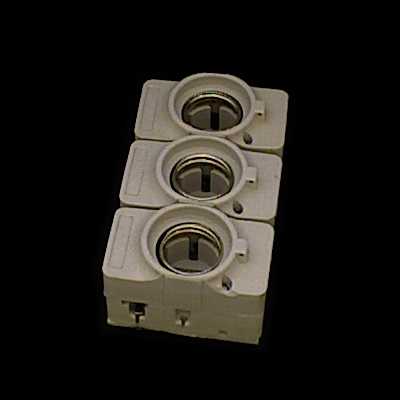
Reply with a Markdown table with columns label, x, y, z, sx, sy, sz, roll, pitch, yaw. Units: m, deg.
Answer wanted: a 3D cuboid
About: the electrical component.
| label | x | y | z | sx | sy | sz | roll | pitch | yaw |
| --- | --- | --- | --- | --- | --- | --- | --- | --- | --- |
| electrical component | 0.000 | 0.000 | 0.634 | 0.089 | 0.148 | 0.062 | 6 | -37 | 4 |
